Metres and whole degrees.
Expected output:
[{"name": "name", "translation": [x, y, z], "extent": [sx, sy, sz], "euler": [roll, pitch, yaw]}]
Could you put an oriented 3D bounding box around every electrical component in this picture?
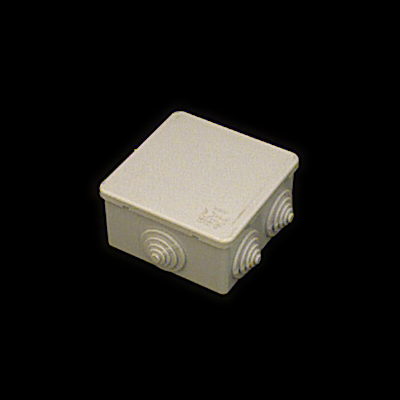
[{"name": "electrical component", "translation": [0.000, 0.000, 0.641], "extent": [0.099, 0.049, 0.100], "euler": [23, 47, 22]}]
